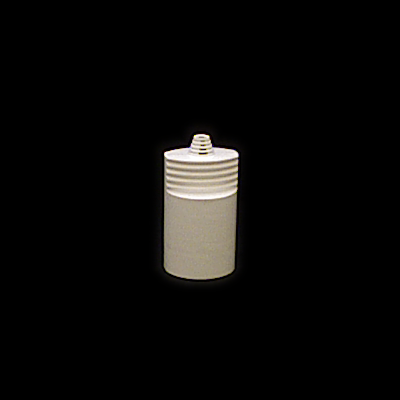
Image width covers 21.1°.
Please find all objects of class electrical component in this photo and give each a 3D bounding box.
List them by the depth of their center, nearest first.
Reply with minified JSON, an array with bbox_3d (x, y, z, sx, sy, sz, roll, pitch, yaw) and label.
[{"bbox_3d":[0.000,0.000,0.635,0.043,0.082,0.042,1,21,0],"label":"electrical component"}]
